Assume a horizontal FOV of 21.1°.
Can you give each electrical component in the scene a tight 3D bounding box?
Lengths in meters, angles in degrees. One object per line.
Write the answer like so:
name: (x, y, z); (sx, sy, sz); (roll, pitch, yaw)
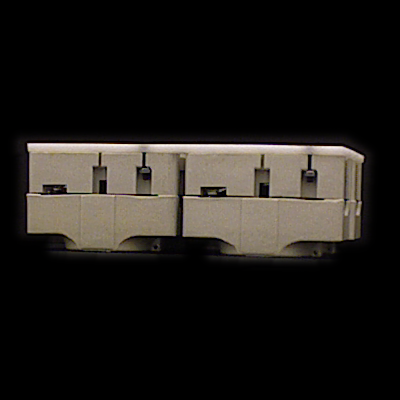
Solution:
electrical component: (0.000, 0.000, 0.649); (0.186, 0.060, 0.105); (1, -1, 15)
